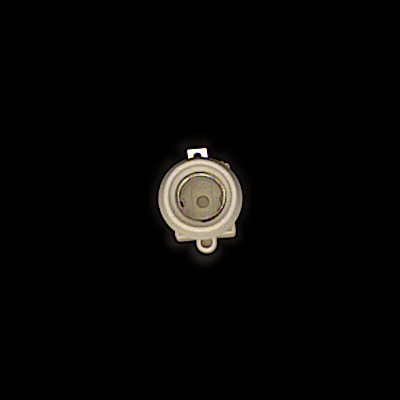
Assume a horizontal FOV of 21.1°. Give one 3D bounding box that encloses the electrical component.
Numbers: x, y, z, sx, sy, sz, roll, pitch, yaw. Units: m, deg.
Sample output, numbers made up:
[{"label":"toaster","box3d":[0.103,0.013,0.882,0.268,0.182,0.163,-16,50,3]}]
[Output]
[{"label":"electrical component","box3d":[0.000,0.000,0.639,0.048,0.066,0.055,-6,-6,-2]}]
